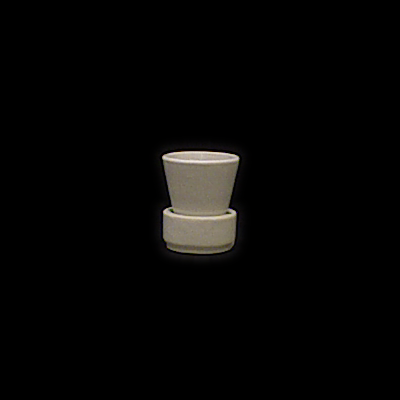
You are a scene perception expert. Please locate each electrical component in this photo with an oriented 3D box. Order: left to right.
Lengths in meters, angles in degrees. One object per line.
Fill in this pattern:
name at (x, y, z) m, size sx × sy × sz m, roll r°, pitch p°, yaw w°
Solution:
electrical component at (0.000, 0.000, 0.643) m, size 0.045 × 0.055 × 0.044 m, roll 1°, pitch 12°, yaw 0°
